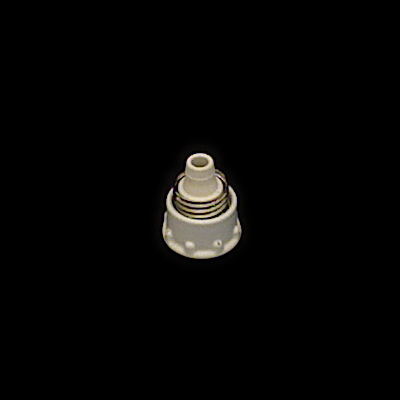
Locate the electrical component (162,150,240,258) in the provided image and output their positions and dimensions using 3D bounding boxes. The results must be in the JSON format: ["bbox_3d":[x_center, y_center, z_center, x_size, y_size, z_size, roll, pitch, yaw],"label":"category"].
[{"bbox_3d":[0.000,0.000,0.636,0.048,0.062,0.047,0,42,1],"label":"electrical component"}]
